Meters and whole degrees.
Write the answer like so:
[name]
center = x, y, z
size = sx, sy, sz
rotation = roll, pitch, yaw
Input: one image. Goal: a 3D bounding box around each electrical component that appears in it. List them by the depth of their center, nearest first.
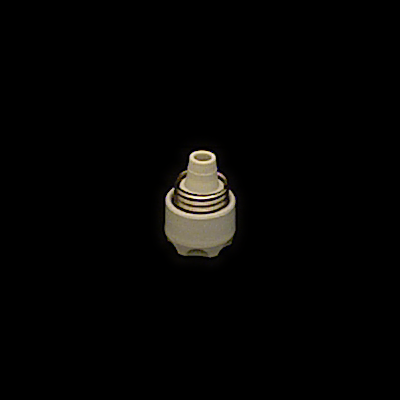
[electrical component]
center = 0.000, 0.000, 0.641
size = 0.043, 0.063, 0.043
rotation = 2, 33, -1
